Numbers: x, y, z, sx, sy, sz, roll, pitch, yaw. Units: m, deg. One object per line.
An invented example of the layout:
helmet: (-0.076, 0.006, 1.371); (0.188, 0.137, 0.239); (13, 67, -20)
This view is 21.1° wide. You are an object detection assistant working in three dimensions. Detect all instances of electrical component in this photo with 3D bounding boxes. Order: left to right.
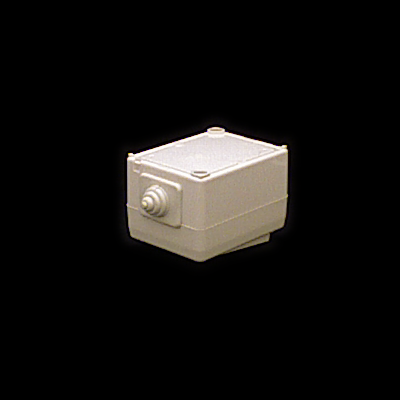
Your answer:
electrical component: (0.000, 0.000, 0.640); (0.061, 0.061, 0.096); (19, 28, 38)
